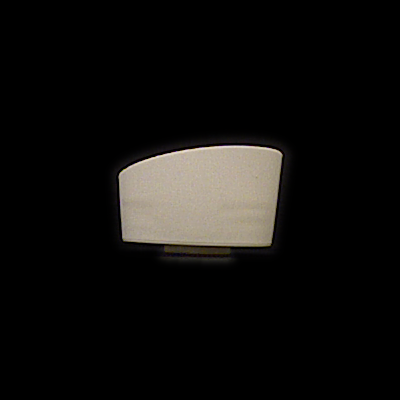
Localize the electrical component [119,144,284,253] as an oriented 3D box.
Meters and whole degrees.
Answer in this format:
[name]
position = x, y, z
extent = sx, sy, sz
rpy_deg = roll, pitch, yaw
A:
[electrical component]
position = 0.000, 0.000, 0.649
extent = 0.099, 0.064, 0.099
rpy_deg = 2, 0, 0
